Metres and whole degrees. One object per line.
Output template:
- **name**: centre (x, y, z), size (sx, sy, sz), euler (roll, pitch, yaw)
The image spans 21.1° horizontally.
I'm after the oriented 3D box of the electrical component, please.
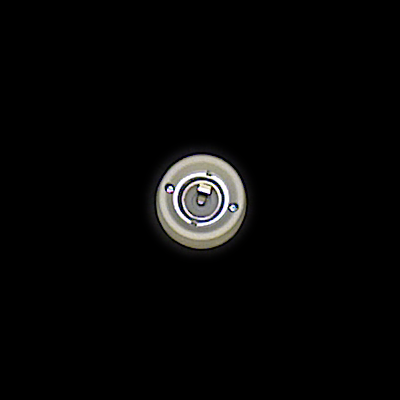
- **electrical component**: centre (0.000, 0.000, 0.633), size (0.055, 0.055, 0.047), euler (0, -6, 0)
